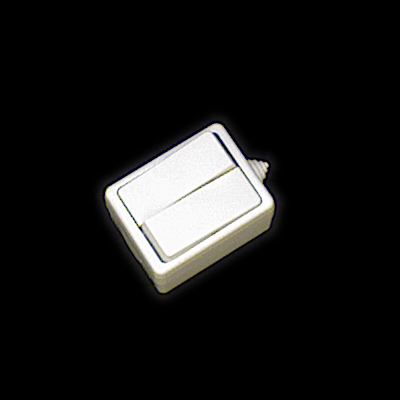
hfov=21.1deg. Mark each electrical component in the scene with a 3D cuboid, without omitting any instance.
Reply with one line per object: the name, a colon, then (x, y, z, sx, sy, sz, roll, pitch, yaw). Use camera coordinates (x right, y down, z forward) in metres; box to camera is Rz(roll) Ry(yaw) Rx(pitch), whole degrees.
electrical component: (0.000, 0.000, 0.626, 0.096, 0.062, 0.060, -31, -14, -9)
